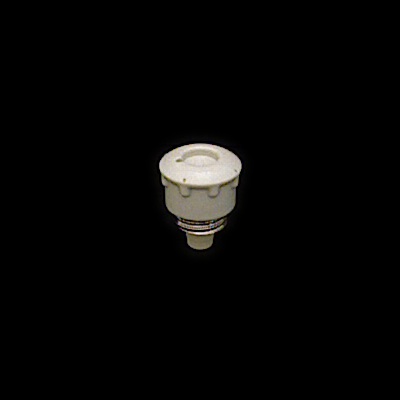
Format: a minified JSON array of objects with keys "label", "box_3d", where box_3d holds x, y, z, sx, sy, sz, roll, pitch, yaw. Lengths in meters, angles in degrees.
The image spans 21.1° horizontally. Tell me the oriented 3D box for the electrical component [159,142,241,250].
[{"label":"electrical component","box_3d":[0.000,0.000,0.639,0.048,0.063,0.047,1,32,0]}]
